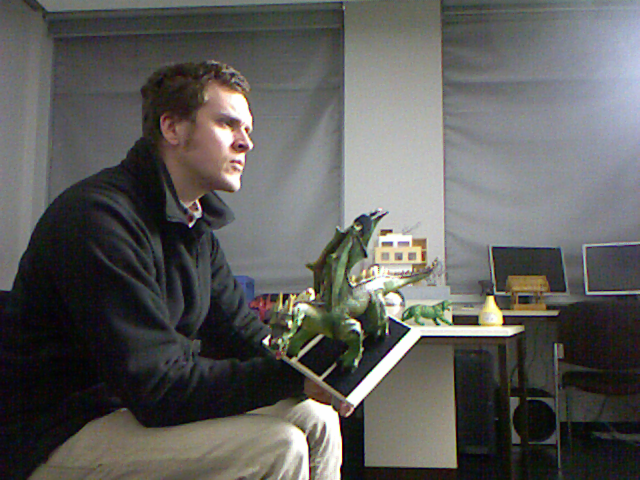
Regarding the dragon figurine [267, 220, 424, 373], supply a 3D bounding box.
[{"bbox_3d":[0.061,0.073,0.845,0.124,0.238,0.418,32,49,29],"label":"dragon figurine"}]
